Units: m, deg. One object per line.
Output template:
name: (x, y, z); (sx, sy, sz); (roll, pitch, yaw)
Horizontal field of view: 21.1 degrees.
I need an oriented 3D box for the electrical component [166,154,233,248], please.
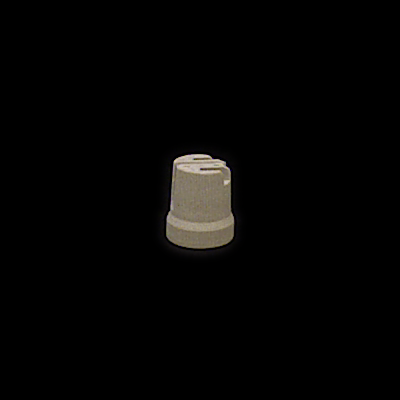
electrical component: (0.000, 0.000, 0.641); (0.040, 0.046, 0.040); (1, 22, 0)
